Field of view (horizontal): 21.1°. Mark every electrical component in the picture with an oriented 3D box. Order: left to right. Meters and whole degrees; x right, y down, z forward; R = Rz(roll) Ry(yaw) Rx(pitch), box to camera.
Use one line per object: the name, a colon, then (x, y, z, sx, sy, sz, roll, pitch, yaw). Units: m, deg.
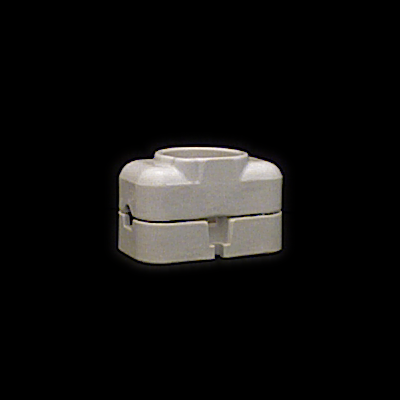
electrical component: (0.000, 0.000, 0.649, 0.096, 0.060, 0.053, -4, 12, -25)
